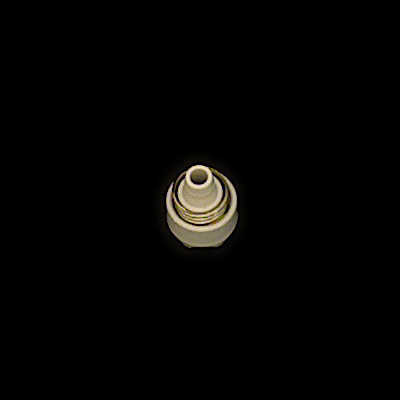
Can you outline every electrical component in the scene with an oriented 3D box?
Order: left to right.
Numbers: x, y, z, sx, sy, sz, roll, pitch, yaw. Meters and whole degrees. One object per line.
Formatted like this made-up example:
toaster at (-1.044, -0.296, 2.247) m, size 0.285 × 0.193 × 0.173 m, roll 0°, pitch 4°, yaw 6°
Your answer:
electrical component at (0.000, 0.000, 0.634) m, size 0.043 × 0.043 × 0.062 m, roll 0°, pitch -27°, yaw 2°
